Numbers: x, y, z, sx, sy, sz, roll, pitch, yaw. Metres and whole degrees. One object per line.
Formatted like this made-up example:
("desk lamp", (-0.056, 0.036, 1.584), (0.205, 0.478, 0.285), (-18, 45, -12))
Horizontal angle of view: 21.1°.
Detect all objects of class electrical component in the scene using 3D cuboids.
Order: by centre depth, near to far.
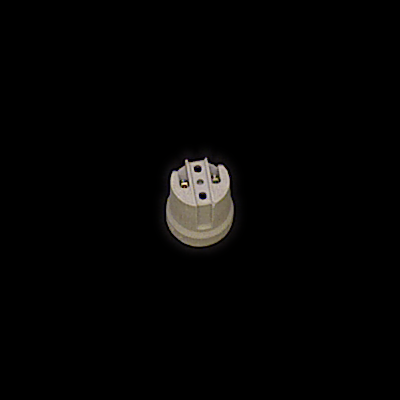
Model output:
("electrical component", (0.000, 0.000, 0.634), (0.040, 0.040, 0.046), (0, -27, -1))
